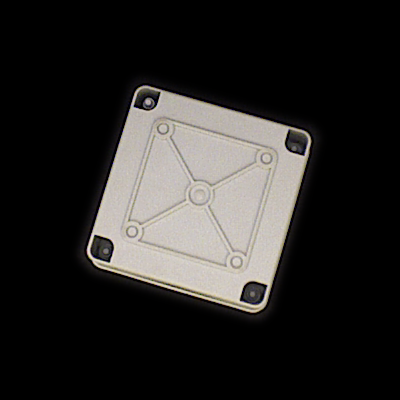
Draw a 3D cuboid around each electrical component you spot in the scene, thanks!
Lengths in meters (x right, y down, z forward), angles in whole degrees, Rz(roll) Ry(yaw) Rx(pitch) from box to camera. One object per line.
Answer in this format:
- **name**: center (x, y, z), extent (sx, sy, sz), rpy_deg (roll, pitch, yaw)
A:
- **electrical component**: center (0.000, 0.000, 0.629), extent (0.109, 0.109, 0.056), rpy_deg (16, -7, 2)
